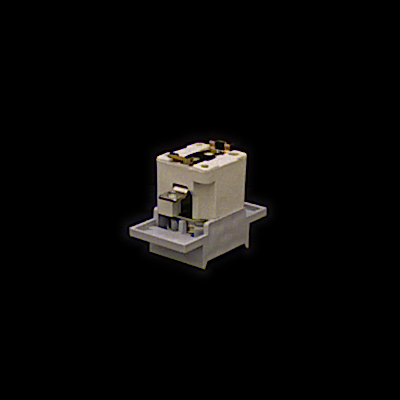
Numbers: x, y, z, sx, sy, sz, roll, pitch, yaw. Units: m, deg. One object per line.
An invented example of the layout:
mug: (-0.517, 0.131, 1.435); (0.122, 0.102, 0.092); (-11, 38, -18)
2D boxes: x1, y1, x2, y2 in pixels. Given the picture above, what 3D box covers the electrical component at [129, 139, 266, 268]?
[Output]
electrical component: (0.000, 0.000, 0.639); (0.042, 0.064, 0.080); (16, 26, 34)
